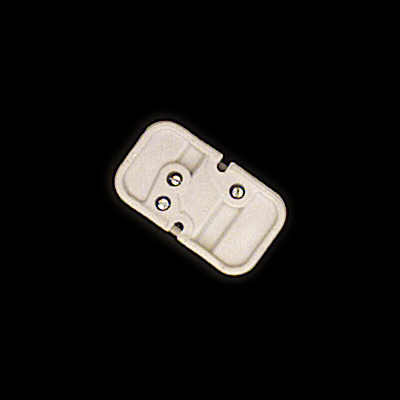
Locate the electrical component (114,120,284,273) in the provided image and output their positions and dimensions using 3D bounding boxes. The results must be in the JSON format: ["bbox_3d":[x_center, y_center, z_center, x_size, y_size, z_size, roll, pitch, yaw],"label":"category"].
[{"bbox_3d":[0.000,0.000,0.636,0.095,0.054,0.059,35,-4,3],"label":"electrical component"}]
